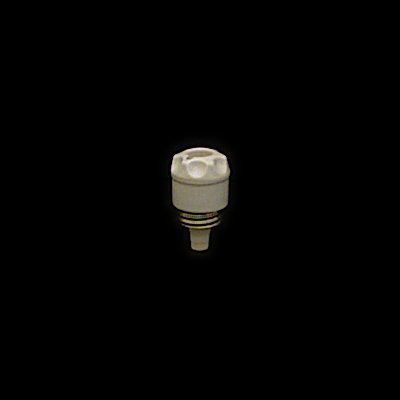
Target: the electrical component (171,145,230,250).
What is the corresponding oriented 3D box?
[{"bbox_3d":[0.000,0.000,0.644,0.035,0.062,0.035,1,22,0],"label":"electrical component"}]
